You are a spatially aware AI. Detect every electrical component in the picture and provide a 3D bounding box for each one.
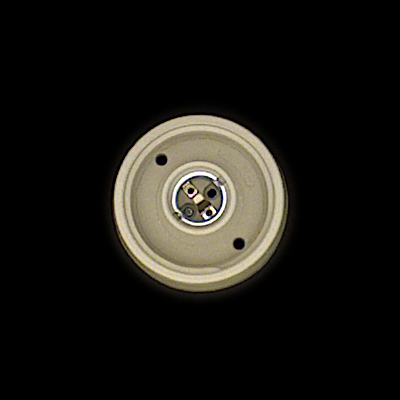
[{"bbox_3d":[0.000,0.000,0.635,0.108,0.108,0.060,0,-6,0],"label":"electrical component"}]
